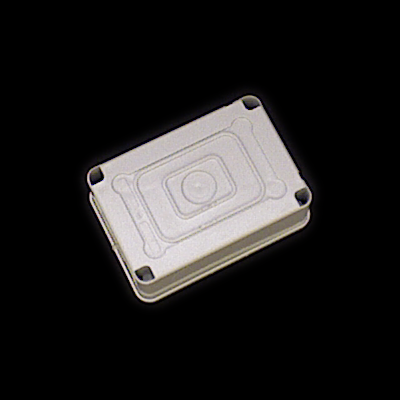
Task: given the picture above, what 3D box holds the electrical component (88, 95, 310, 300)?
[{"bbox_3d":[0.000,0.000,0.627,0.113,0.078,0.057,-26,-15,-7],"label":"electrical component"}]
